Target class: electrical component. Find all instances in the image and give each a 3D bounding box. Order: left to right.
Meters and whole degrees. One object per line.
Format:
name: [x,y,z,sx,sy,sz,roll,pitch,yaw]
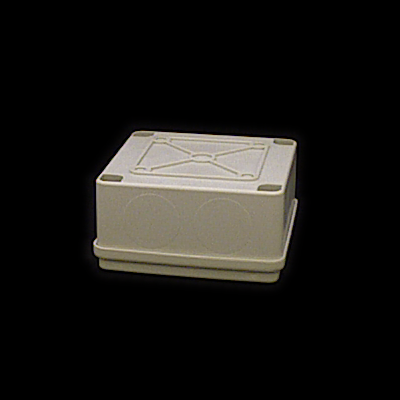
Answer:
electrical component: [0.000,0.000,0.640,0.108,0.057,0.107,4,20,8]
